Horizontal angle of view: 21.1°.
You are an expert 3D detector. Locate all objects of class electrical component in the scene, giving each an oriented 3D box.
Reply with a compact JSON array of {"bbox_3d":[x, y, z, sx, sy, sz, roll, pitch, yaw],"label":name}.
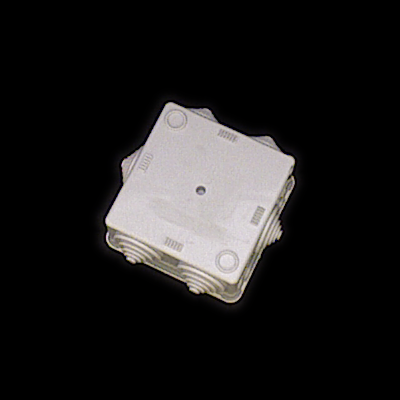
[{"bbox_3d":[0.000,0.000,0.631,0.100,0.100,0.048,25,-15,7],"label":"electrical component"}]
